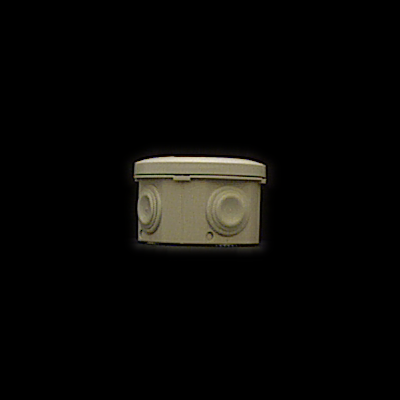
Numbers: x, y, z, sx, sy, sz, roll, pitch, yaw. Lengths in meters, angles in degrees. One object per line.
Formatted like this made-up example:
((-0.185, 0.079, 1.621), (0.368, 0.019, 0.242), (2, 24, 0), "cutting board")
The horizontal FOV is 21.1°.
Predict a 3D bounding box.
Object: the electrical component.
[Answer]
((0.000, 0.000, 0.651), (0.080, 0.051, 0.080), (1, 0, 0), "electrical component")
